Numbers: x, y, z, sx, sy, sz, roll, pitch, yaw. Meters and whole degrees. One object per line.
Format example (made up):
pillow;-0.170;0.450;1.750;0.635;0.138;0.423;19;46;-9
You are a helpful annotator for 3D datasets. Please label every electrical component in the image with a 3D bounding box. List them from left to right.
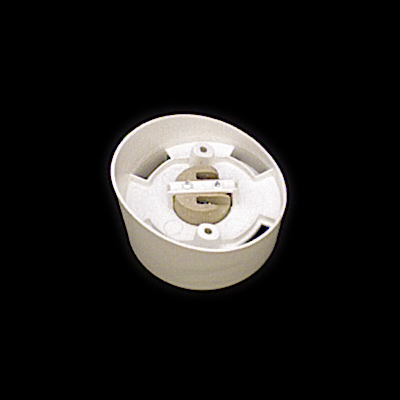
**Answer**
electrical component;0.000;0.000;0.625;0.099;0.098;0.064;0;-37;0
